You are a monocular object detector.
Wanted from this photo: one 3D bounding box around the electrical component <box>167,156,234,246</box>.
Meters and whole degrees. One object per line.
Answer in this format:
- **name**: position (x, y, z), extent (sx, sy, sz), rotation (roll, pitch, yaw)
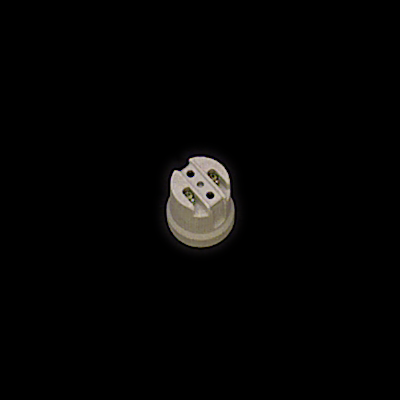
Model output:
- **electrical component**: position (0.000, 0.000, 0.632), extent (0.040, 0.040, 0.046), rotation (0, -27, 0)
